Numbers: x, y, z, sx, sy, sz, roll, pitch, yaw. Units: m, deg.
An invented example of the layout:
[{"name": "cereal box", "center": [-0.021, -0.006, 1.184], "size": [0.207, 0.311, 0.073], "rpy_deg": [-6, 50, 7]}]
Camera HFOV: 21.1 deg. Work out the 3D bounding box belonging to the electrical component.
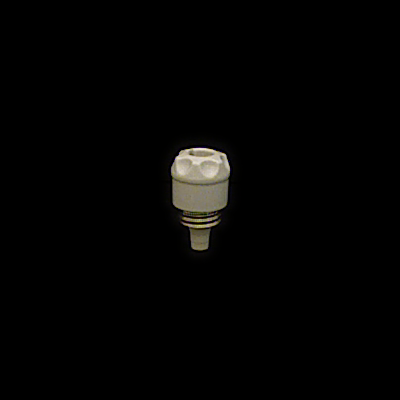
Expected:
[{"name": "electrical component", "center": [0.000, 0.000, 0.648], "size": [0.035, 0.062, 0.034], "rpy_deg": [1, 22, 0]}]
